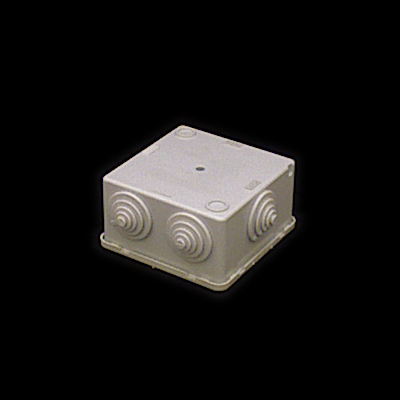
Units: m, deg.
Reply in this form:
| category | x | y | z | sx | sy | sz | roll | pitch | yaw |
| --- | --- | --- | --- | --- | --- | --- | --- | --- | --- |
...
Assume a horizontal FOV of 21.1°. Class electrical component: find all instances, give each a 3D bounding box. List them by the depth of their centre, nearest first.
| category | x | y | z | sx | sy | sz | roll | pitch | yaw |
| --- | --- | --- | --- | --- | --- | --- | --- | --- | --- |
| electrical component | 0.000 | 0.000 | 0.637 | 0.099 | 0.049 | 0.099 | 19 | 36 | 27 |
